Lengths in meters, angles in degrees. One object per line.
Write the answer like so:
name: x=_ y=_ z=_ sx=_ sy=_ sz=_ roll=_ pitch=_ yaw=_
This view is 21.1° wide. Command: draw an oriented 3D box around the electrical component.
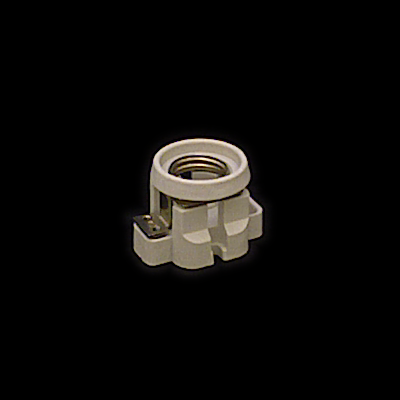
electrical component: x=0.000 y=0.000 z=0.633 sx=0.078 sy=0.057 sz=0.057 roll=-14 pitch=35 yaw=-24
